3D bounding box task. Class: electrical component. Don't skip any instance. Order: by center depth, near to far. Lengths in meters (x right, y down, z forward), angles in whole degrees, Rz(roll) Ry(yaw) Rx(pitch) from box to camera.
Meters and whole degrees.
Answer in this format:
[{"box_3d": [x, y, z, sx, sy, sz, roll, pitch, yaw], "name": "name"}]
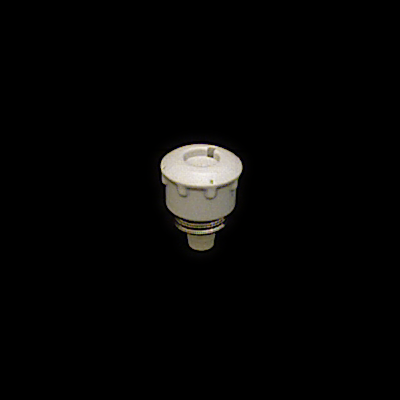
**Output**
[{"box_3d": [0.000, 0.000, 0.642, 0.048, 0.063, 0.047, 1, 32, 0], "name": "electrical component"}]
